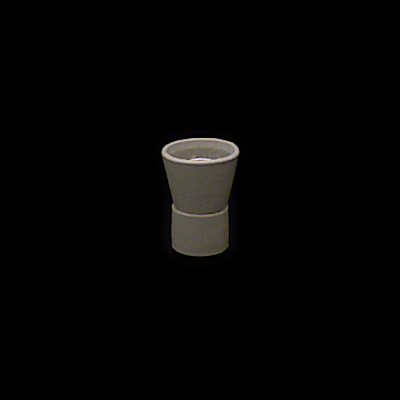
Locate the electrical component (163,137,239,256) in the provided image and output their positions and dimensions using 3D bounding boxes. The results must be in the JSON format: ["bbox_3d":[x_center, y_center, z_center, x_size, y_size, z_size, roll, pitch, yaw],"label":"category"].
[{"bbox_3d":[0.000,0.000,0.636,0.044,0.066,0.044,1,22,0],"label":"electrical component"}]
